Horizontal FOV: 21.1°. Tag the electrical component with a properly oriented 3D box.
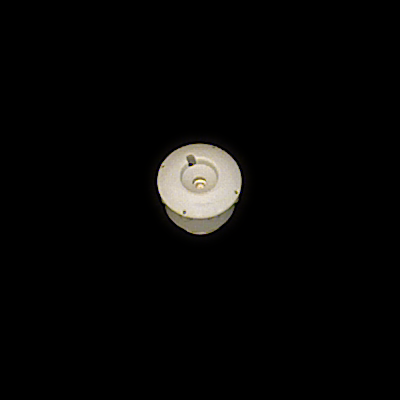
[{"bbox_3d":[0.000,0.000,0.633,0.048,0.048,0.062,0,-27,0],"label":"electrical component"}]
